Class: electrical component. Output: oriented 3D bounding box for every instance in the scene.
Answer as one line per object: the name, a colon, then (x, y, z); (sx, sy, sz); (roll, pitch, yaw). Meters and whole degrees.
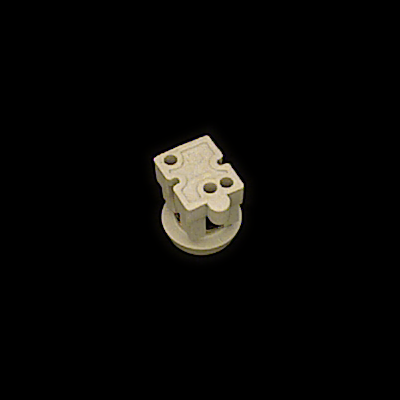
electrical component: (0.000, 0.000, 0.638); (0.048, 0.066, 0.055); (-24, -34, -16)
